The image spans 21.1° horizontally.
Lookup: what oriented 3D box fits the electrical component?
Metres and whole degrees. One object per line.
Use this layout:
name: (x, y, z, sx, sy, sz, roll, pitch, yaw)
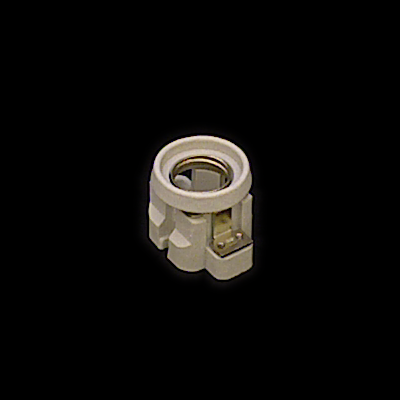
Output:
electrical component: (0.000, 0.000, 0.631, 0.058, 0.057, 0.078, -24, 48, -25)
